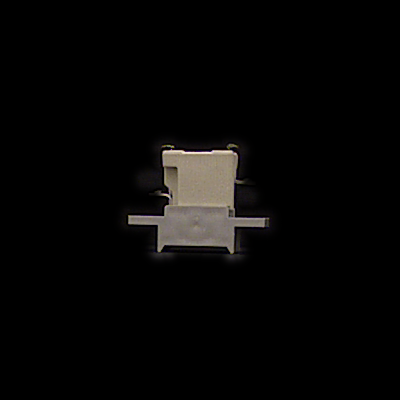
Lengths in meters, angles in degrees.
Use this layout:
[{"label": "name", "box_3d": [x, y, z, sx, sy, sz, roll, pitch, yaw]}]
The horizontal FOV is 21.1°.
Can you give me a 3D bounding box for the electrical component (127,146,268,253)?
[{"label": "electrical component", "box_3d": [0.000, 0.000, 0.649, 0.081, 0.064, 0.042, 2, 1, 6]}]
